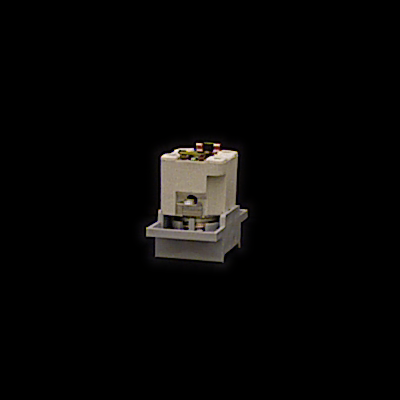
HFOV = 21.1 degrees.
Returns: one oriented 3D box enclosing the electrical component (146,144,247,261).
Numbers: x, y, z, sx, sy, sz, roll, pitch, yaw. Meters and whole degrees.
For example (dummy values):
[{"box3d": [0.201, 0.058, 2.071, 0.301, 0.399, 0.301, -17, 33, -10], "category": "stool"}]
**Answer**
[{"box3d": [0.000, 0.000, 0.643, 0.042, 0.064, 0.080, 4, 11, 14], "category": "electrical component"}]
